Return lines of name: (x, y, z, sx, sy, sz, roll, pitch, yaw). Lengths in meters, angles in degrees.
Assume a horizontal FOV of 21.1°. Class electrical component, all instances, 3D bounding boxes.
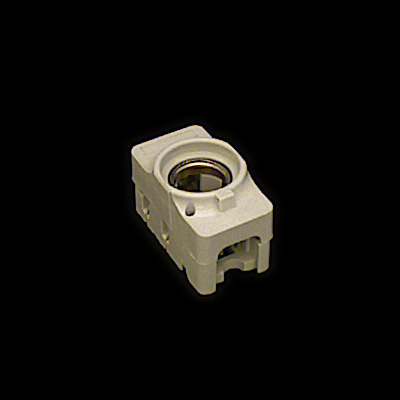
electrical component: (0.000, 0.000, 0.639, 0.050, 0.056, 0.088, -21, 47, -22)
